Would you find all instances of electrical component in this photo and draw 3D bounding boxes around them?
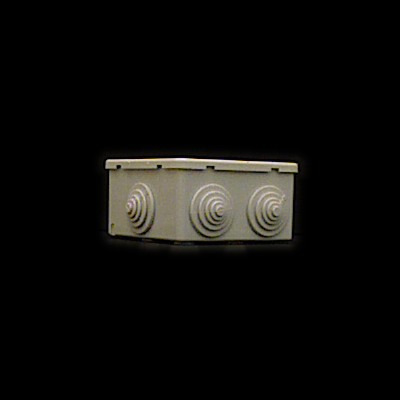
[{"bbox_3d":[0.000,0.000,0.658,0.101,0.048,0.098,1,1,-35],"label":"electrical component"}]
